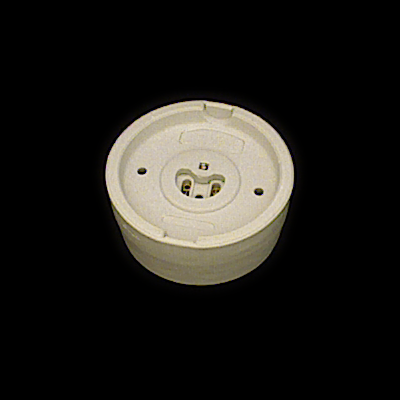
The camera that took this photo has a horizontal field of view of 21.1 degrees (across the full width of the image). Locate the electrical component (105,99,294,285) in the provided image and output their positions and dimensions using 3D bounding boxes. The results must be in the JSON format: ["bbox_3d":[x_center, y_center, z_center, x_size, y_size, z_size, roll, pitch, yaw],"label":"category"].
[{"bbox_3d":[0.000,0.000,0.638,0.108,0.107,0.061,0,-37,0],"label":"electrical component"}]
